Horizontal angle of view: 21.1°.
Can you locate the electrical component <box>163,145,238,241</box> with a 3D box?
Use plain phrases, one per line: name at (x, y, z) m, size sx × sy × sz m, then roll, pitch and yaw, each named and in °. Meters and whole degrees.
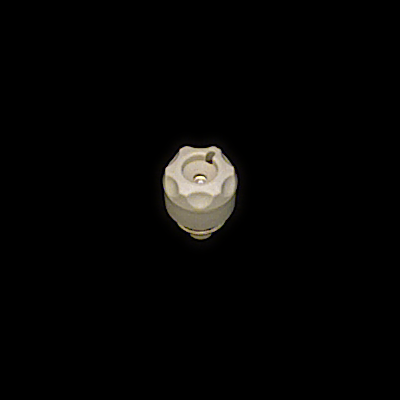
electrical component at (0.000, 0.000, 0.635) m, size 0.043 × 0.043 × 0.062 m, roll 0°, pitch -36°, yaw 0°
